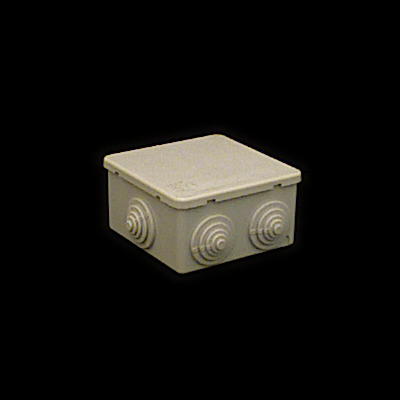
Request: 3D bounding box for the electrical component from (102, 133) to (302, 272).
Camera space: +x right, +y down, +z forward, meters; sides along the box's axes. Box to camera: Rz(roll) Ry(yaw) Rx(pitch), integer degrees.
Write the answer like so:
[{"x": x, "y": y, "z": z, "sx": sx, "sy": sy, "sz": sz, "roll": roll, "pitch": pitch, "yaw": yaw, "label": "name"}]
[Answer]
[{"x": 0.000, "y": 0.000, "z": 0.646, "sx": 0.100, "sy": 0.049, "sz": 0.098, "roll": -13, "pitch": 26, "yaw": -32, "label": "electrical component"}]
